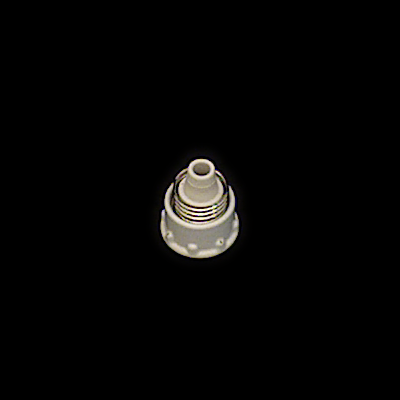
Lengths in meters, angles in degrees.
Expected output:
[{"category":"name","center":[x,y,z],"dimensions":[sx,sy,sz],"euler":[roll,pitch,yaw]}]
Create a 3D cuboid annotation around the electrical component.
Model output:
[{"category":"electrical component","center":[0.000,0.000,0.636],"dimensions":[0.048,0.048,0.062],"euler":[0,-37,-2]}]
